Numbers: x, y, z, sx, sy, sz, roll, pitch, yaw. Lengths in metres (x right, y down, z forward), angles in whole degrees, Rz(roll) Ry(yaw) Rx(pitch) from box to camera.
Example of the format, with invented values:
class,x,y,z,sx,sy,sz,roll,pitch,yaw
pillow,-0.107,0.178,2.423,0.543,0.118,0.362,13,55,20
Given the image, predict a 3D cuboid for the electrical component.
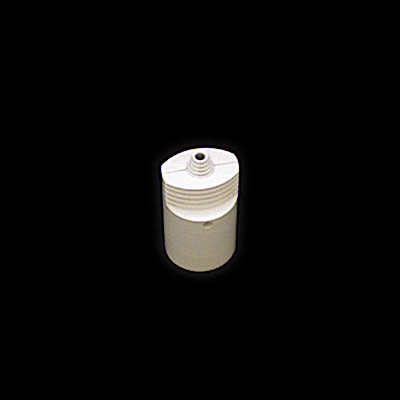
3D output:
class,x,y,z,sx,sy,sz,roll,pitch,yaw
electrical component,0.000,0.000,0.619,0.043,0.043,0.081,0,-38,0
